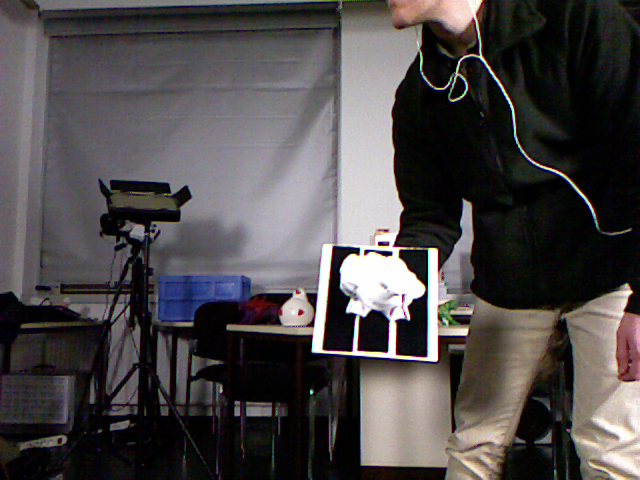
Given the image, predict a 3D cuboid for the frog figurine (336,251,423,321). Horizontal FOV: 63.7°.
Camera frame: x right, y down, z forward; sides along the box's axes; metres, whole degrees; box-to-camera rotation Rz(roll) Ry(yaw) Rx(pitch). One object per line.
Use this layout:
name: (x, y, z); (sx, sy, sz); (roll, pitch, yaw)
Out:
frog figurine: (0.092, 0.061, 0.814); (0.138, 0.125, 0.156); (21, -25, 15)
